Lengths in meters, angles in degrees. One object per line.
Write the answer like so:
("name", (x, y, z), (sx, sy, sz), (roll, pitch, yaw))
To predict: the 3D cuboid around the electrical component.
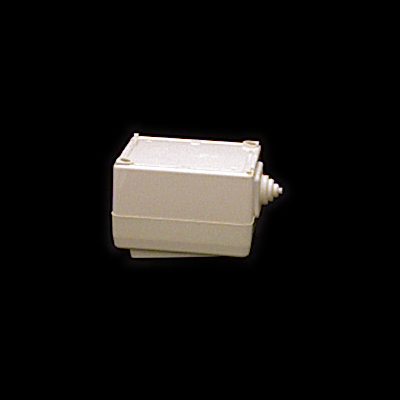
("electrical component", (0.000, 0.000, 0.637), (0.096, 0.061, 0.061), (4, 21, 6))
